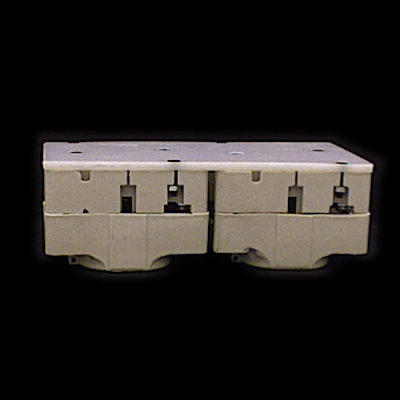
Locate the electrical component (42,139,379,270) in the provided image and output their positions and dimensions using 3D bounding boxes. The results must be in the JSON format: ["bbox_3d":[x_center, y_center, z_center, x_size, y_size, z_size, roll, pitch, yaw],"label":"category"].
[{"bbox_3d":[0.000,0.000,0.644,0.186,0.061,0.104,0,10,-8],"label":"electrical component"}]
